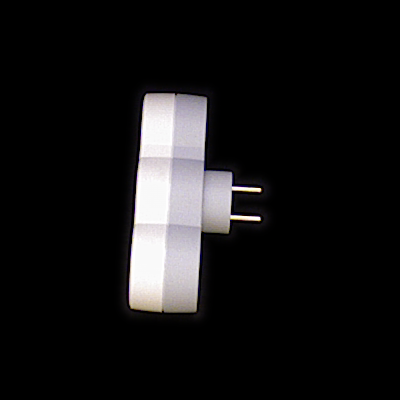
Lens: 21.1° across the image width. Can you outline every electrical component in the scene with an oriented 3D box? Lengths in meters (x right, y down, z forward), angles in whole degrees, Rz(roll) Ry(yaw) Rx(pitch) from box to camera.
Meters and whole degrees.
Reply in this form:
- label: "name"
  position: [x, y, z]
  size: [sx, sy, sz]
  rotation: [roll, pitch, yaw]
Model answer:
- label: "electrical component"
  position: [0.000, 0.000, 0.632]
  size: [0.074, 0.138, 0.052]
  rotation: [3, -28, -1]
